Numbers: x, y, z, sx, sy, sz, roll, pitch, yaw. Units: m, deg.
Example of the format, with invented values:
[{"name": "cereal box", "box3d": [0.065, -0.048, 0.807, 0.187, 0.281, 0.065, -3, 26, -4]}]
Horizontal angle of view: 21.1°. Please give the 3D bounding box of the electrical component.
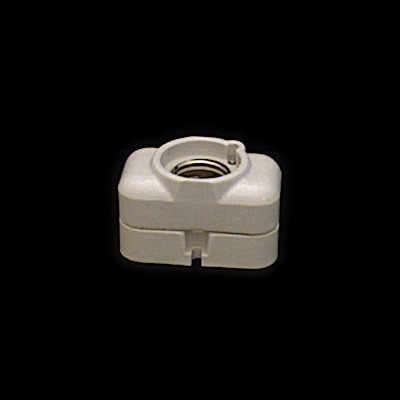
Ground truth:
[{"name": "electrical component", "box3d": [0.000, 0.000, 0.642, 0.095, 0.060, 0.053, 3, 33, 3]}]
